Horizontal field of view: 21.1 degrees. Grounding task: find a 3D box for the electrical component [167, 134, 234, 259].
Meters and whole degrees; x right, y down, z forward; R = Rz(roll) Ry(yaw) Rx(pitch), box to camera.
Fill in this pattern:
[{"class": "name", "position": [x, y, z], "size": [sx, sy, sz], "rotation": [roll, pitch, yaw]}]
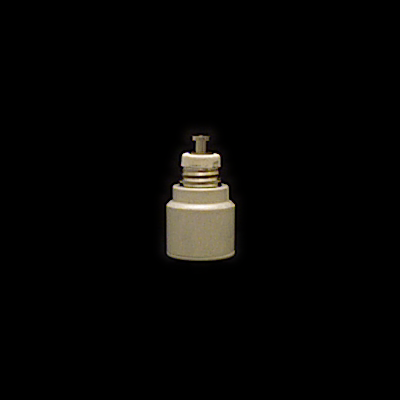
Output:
[{"class": "electrical component", "position": [0.000, 0.000, 0.642], "size": [0.040, 0.079, 0.040], "rotation": [0, 12, 0]}]
